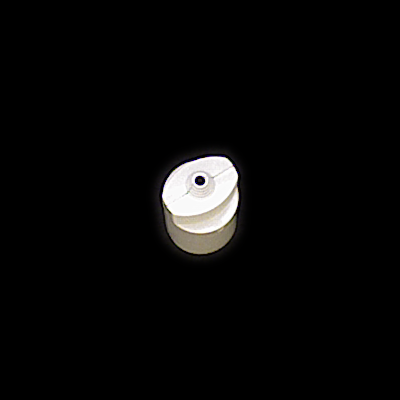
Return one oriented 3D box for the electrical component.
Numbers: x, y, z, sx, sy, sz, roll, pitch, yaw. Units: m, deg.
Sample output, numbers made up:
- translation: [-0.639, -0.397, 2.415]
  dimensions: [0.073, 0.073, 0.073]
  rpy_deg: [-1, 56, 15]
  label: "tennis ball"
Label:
- translation: [0.000, 0.000, 0.616]
  dimensions: [0.043, 0.043, 0.080]
  rpy_deg: [0, -17, 1]
  label: "electrical component"
